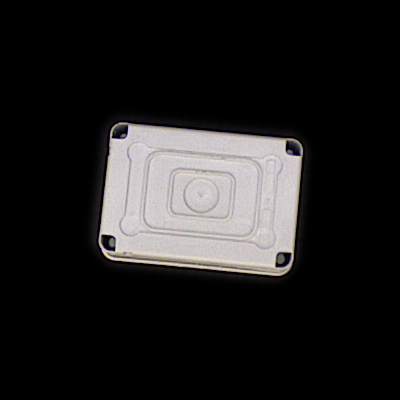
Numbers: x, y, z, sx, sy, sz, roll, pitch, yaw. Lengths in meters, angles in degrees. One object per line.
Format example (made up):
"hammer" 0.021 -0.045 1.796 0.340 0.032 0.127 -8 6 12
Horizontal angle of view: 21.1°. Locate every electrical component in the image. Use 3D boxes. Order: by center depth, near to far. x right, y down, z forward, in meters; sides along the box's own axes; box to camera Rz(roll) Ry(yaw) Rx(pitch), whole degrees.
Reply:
"electrical component" 0.000 0.000 0.629 0.113 0.078 0.057 6 -7 0
